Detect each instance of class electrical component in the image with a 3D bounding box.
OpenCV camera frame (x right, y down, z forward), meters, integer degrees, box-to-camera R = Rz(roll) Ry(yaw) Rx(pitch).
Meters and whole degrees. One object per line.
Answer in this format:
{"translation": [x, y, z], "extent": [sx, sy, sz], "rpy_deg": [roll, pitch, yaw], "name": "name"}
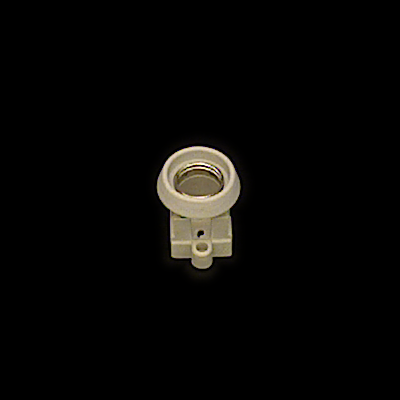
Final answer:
{"translation": [0.000, 0.000, 0.638], "extent": [0.048, 0.066, 0.056], "rpy_deg": [-2, -37, -4], "name": "electrical component"}
